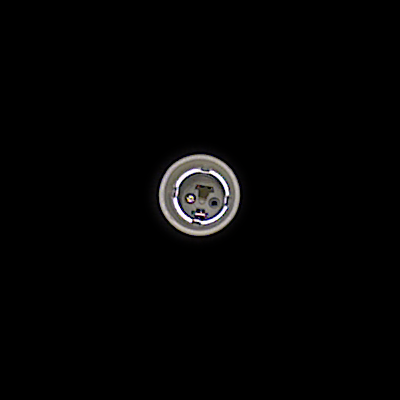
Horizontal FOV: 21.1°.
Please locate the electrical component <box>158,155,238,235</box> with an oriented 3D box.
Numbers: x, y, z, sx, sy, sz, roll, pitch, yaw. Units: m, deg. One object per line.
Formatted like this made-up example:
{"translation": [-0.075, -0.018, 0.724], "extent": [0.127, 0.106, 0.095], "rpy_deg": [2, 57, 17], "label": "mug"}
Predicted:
{"translation": [0.000, 0.000, 0.625], "extent": [0.044, 0.044, 0.065], "rpy_deg": [0, -6, 2], "label": "electrical component"}
